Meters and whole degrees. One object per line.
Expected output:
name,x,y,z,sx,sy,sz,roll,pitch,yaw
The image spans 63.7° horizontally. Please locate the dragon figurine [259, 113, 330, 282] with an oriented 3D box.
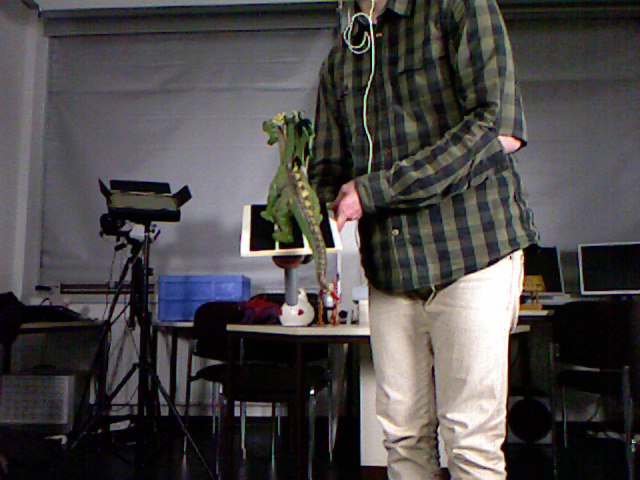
dragon figurine,-0.047,-0.126,1.017,0.123,0.238,0.419,-12,37,-17
